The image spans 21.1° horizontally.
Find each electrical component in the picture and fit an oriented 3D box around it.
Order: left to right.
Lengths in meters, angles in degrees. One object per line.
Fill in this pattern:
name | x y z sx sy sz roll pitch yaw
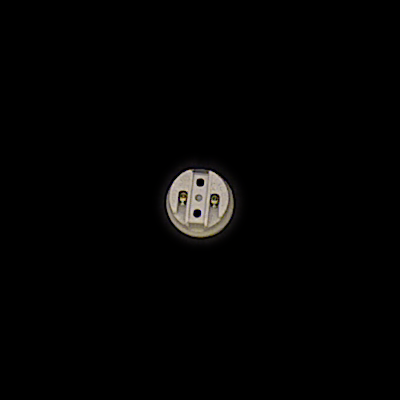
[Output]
electrical component | 0.000 0.000 0.634 0.040 0.040 0.046 0 -7 1
